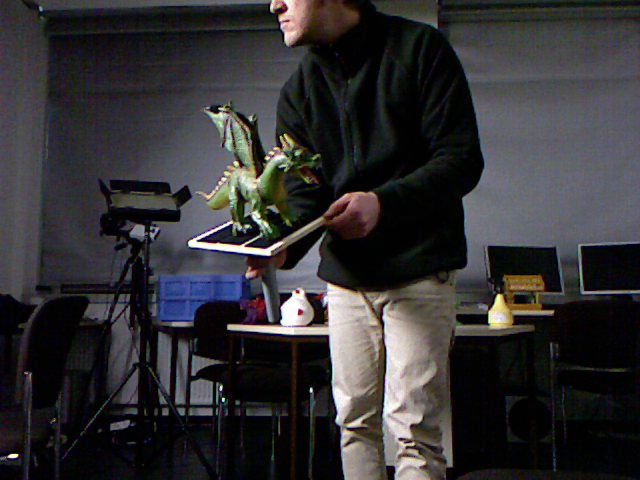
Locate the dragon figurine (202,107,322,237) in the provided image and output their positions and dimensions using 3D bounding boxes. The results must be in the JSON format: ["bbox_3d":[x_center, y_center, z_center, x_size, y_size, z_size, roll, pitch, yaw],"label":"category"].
[{"bbox_3d":[-0.150,-0.141,0.998,0.412,0.238,0.124,14,33,42],"label":"dragon figurine"}]
